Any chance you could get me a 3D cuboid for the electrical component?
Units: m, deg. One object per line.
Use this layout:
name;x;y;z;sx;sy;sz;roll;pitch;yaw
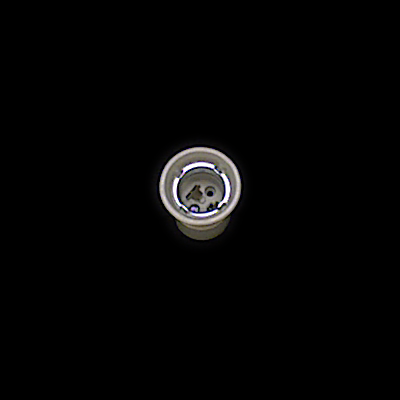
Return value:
electrical component;0.000;0.000;0.623;0.044;0.044;0.065;0;-16;1
